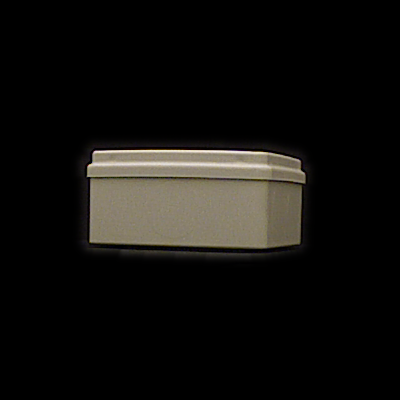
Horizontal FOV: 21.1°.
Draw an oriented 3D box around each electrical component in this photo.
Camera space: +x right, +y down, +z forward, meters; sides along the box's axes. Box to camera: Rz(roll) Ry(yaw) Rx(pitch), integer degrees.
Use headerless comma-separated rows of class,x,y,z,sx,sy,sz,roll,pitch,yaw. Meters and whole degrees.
electrical component,0.000,0.000,0.648,0.108,0.056,0.109,1,1,16
